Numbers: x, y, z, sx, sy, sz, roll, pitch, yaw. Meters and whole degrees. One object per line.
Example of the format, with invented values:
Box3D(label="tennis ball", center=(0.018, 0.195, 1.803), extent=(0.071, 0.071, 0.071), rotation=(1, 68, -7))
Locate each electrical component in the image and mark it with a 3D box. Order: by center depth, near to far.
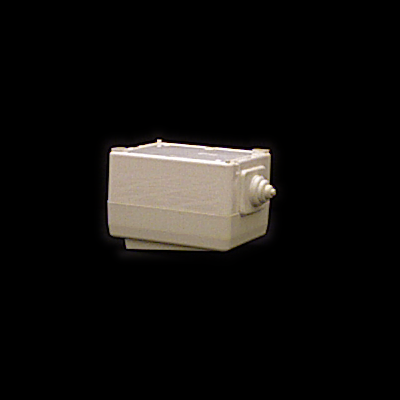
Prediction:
Box3D(label="electrical component", center=(0.000, 0.000, 0.641), extent=(0.096, 0.061, 0.061), rotation=(7, 12, 25))
